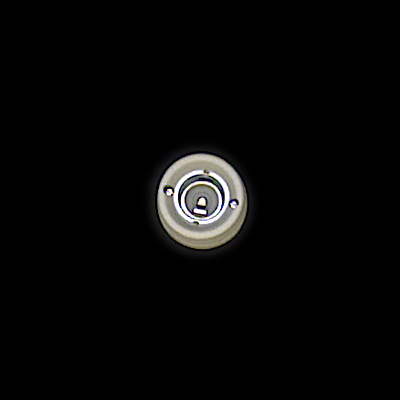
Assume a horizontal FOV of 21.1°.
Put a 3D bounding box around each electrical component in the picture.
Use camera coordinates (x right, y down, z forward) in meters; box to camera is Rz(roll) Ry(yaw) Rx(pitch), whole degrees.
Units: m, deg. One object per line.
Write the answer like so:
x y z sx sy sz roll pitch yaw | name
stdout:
0.000 0.000 0.634 0.055 0.055 0.047 0 -7 1 | electrical component
